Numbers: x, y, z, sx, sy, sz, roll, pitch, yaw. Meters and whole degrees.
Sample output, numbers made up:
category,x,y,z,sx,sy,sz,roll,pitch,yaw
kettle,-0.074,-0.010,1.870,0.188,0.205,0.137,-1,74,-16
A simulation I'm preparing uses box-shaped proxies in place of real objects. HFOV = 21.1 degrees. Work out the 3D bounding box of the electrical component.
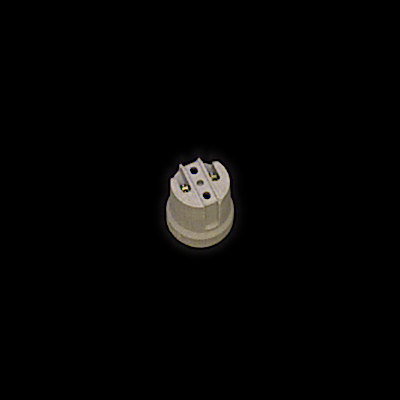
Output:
category,x,y,z,sx,sy,sz,roll,pitch,yaw
electrical component,0.000,0.000,0.634,0.040,0.040,0.046,0,-27,-1
